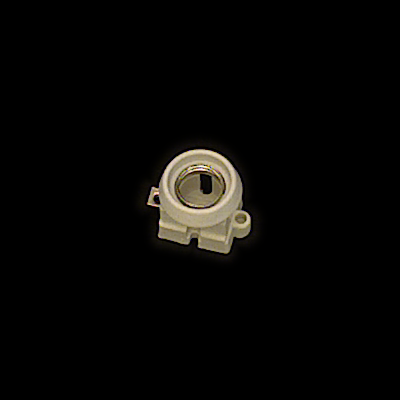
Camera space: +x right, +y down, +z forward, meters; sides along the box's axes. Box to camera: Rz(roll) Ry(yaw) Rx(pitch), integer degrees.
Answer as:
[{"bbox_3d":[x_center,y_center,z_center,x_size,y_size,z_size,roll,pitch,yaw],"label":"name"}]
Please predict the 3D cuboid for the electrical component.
[{"bbox_3d":[0.000,0.000,0.637,0.066,0.048,0.055,12,-28,6],"label":"electrical component"}]
